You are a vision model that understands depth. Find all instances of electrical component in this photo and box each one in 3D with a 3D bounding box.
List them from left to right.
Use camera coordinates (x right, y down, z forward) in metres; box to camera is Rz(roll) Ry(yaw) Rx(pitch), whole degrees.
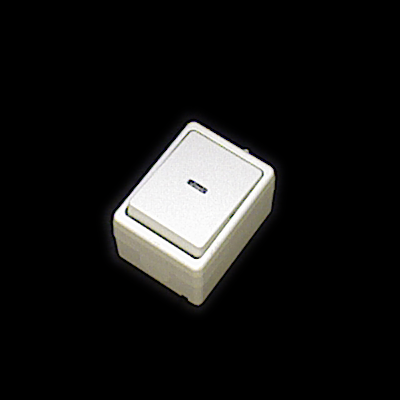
[{"bbox_3d":[0.000,0.000,0.627,0.061,0.096,0.061,32,-23,15],"label":"electrical component"}]
